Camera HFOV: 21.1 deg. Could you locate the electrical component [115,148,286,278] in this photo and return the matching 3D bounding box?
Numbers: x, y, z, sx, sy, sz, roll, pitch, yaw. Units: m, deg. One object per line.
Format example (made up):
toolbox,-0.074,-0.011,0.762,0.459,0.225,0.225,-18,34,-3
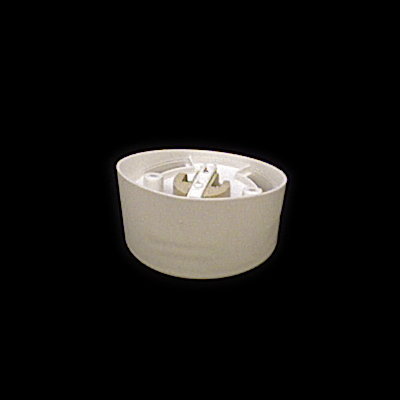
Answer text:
electrical component,0.000,0.000,0.632,0.099,0.065,0.097,1,32,0
